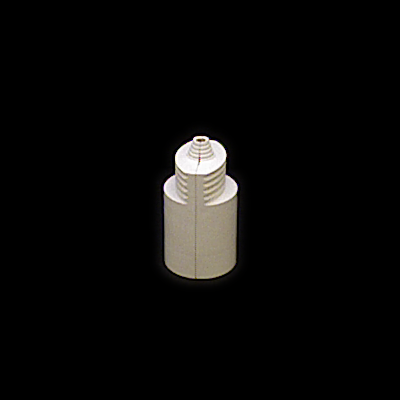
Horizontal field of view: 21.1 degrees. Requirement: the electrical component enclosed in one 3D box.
[{"bbox_3d":[0.000,0.000,0.629,0.043,0.082,0.042,1,31,0],"label":"electrical component"}]
